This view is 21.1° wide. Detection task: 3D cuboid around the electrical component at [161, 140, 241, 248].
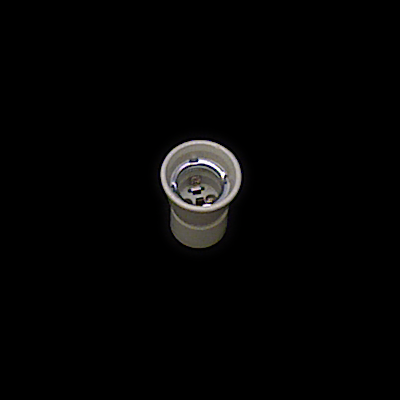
[{"bbox_3d":[0.000,0.000,0.625,0.044,0.044,0.065,0,-28,-1],"label":"electrical component"}]
